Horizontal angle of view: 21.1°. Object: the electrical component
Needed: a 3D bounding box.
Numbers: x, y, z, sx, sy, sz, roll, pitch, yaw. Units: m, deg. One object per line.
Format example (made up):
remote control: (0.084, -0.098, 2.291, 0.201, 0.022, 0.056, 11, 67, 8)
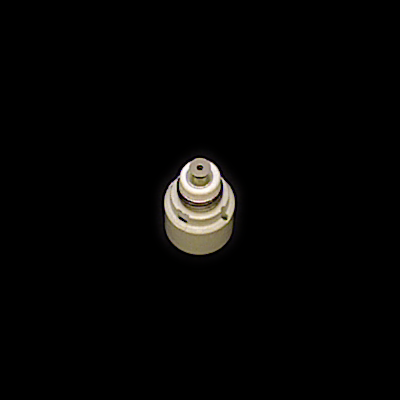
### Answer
electrical component: (0.000, 0.000, 0.619, 0.040, 0.040, 0.078, 0, -27, -1)
